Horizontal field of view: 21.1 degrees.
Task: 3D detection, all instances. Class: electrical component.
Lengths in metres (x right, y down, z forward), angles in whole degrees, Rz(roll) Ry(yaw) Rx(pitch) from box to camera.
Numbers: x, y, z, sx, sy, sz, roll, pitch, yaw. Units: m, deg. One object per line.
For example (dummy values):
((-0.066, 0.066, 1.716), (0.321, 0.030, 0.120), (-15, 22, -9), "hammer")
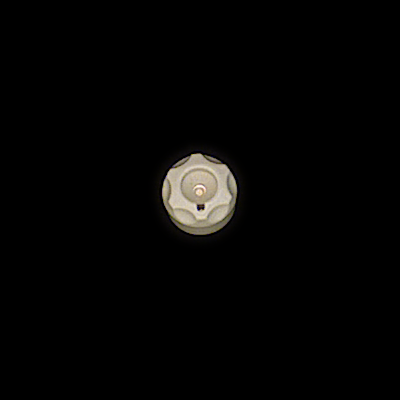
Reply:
((0.000, 0.000, 0.634), (0.043, 0.043, 0.062), (0, -17, 1), "electrical component")
